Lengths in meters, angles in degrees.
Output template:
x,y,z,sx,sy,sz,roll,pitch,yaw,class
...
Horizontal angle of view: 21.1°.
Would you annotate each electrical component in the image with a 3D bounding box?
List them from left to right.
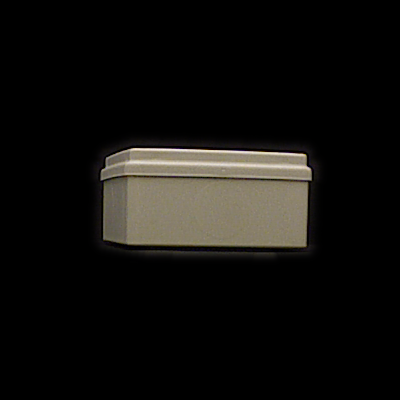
x,y,z,sx,sy,sz,roll,pitch,yaw,class
0.000,0.000,0.650,0.109,0.056,0.108,1,0,-14,electrical component
